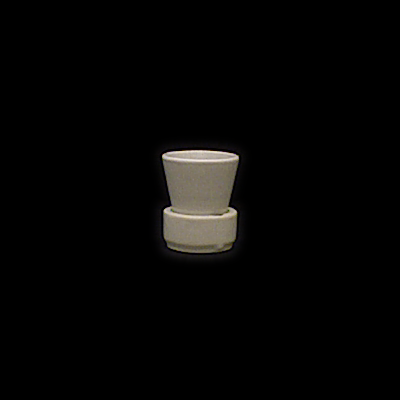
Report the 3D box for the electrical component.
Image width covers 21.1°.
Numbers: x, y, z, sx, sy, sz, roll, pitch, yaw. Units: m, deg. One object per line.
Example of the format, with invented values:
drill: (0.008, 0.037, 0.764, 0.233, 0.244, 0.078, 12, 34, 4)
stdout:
electrical component: (0.000, 0.000, 0.642, 0.045, 0.055, 0.044, 0, 11, 0)
